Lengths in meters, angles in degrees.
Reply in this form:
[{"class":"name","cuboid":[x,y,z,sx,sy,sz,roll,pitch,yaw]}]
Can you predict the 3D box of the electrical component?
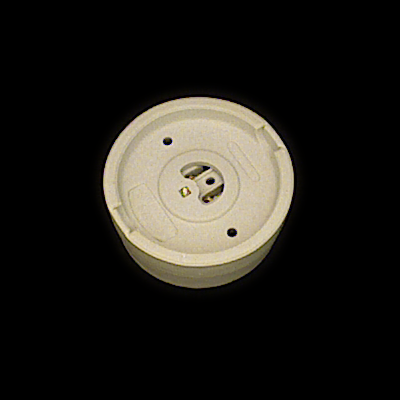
[{"class":"electrical component","cuboid":[0.000,0.000,0.632,0.108,0.108,0.060,0,-27,-1]}]
